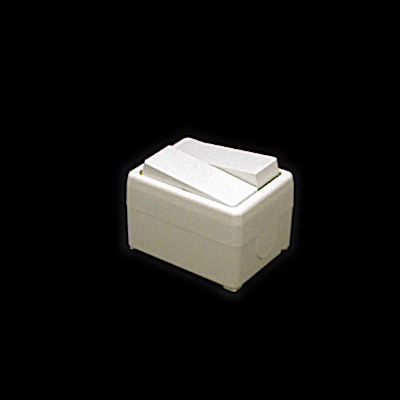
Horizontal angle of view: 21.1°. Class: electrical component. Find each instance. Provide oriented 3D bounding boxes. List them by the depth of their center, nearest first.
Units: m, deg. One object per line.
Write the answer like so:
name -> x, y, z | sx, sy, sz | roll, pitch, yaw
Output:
electrical component -> 0.000, 0.000, 0.636 | 0.095, 0.061, 0.061 | 21, 37, 30
